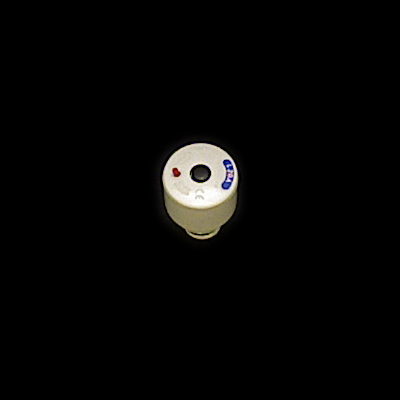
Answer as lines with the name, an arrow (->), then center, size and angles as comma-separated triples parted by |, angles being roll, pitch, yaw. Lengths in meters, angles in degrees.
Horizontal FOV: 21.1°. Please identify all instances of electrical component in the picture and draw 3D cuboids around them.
electrical component -> 0.000, 0.000, 0.618 | 0.040, 0.040, 0.078 | 0, -27, 1
